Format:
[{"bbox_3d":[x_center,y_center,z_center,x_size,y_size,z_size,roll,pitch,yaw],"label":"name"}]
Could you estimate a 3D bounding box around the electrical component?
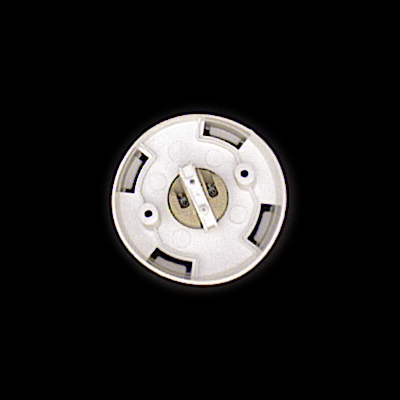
[{"bbox_3d":[0.000,0.000,0.624,0.099,0.099,0.064,0,-6,-1],"label":"electrical component"}]
